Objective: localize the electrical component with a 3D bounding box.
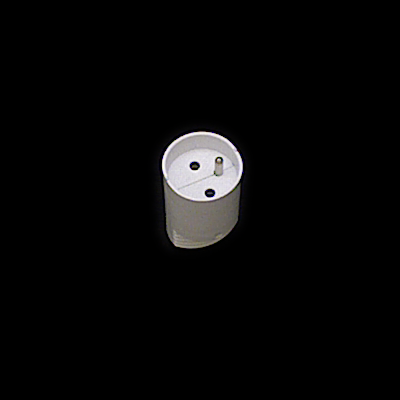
[{"bbox_3d":[0.000,0.000,0.618,0.043,0.043,0.081,0,-27,-1],"label":"electrical component"}]
